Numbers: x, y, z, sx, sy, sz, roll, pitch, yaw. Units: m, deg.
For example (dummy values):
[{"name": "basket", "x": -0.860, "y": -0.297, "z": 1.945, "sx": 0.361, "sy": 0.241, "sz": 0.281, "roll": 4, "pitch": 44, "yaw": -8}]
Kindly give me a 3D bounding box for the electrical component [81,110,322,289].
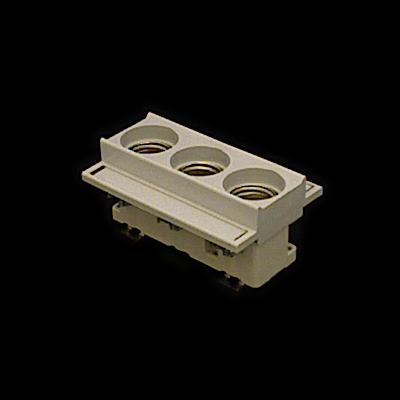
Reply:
[{"name": "electrical component", "x": 0.000, "y": 0.000, "z": 0.645, "sx": 0.120, "sy": 0.064, "sz": 0.078, "roll": 25, "pitch": 41, "yaw": 34}]
